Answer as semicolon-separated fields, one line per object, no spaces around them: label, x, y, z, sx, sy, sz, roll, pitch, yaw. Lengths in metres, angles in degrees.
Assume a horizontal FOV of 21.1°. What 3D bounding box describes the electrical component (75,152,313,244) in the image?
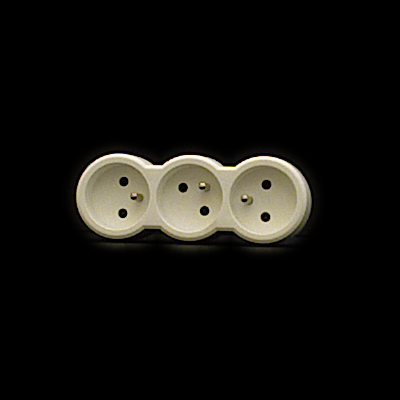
electrical component;0.000;0.000;0.660;0.138;0.052;0.074;1;0;10
